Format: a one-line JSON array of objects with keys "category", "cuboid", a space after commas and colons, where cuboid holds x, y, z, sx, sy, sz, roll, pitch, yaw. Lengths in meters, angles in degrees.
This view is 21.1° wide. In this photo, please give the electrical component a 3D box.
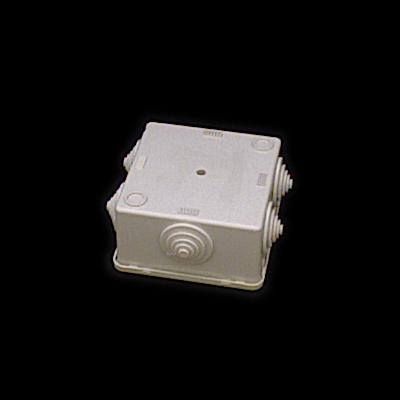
[{"category": "electrical component", "cuboid": [0.000, 0.000, 0.635, 0.099, 0.049, 0.099, 8, 43, 8]}]
